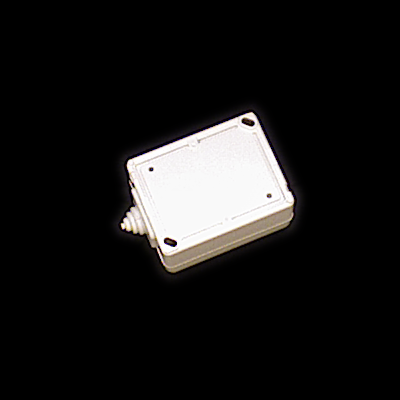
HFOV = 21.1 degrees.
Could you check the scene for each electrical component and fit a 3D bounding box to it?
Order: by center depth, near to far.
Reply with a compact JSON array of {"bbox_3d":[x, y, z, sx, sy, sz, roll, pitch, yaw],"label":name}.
[{"bbox_3d":[0.000,0.000,0.628,0.096,0.062,0.060,-22,-16,-6],"label":"electrical component"}]
